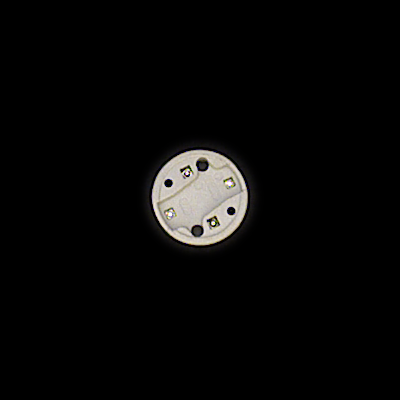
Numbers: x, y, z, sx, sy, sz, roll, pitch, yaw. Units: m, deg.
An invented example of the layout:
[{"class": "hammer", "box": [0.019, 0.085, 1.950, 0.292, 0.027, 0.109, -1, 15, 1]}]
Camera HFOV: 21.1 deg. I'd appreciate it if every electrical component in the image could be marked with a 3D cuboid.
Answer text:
[{"class": "electrical component", "box": [0.000, 0.000, 0.636, 0.055, 0.055, 0.047, 0, -6, 0]}]
